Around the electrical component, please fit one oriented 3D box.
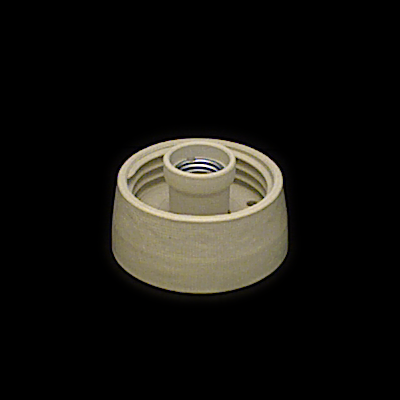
[{"bbox_3d":[0.000,0.000,0.642,0.108,0.061,0.106,1,32,0],"label":"electrical component"}]
